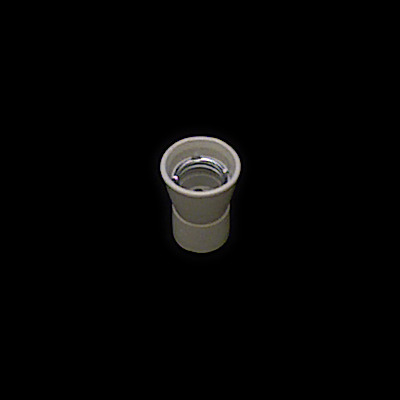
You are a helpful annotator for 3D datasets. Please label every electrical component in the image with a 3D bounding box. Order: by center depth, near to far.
[{"bbox_3d":[0.000,0.000,0.628,0.044,0.044,0.065,0,-39,0],"label":"electrical component"}]
